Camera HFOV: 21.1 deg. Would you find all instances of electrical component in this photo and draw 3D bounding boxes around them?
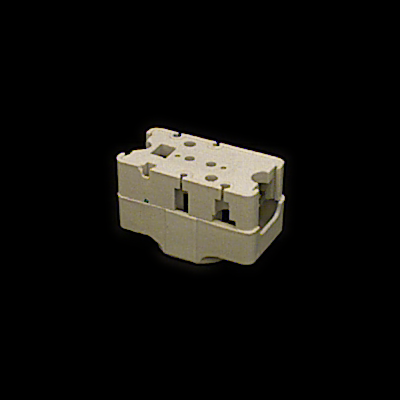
[{"bbox_3d":[0.000,0.000,0.642,0.089,0.056,0.050,15,36,22],"label":"electrical component"}]
